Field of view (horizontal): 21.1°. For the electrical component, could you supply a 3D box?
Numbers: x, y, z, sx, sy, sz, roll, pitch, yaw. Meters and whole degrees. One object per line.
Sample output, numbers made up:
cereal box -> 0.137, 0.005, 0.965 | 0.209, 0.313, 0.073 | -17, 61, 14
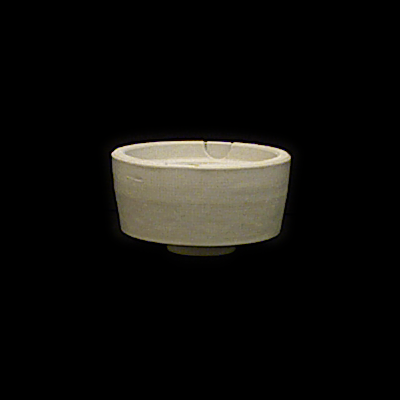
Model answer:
electrical component -> 0.000, 0.000, 0.654 | 0.108, 0.061, 0.107 | 1, 11, 0
